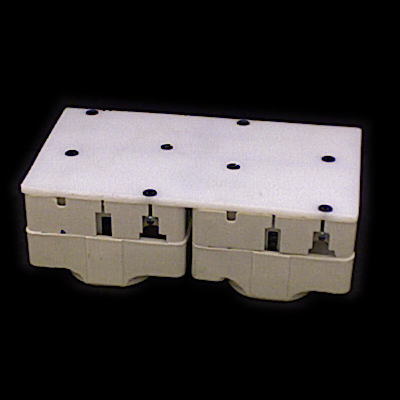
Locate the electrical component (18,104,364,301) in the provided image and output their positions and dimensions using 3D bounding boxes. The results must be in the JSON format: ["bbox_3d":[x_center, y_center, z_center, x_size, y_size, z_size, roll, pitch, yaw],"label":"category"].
[{"bbox_3d":[0.000,0.000,0.634,0.186,0.061,0.104,5,32,6],"label":"electrical component"}]
